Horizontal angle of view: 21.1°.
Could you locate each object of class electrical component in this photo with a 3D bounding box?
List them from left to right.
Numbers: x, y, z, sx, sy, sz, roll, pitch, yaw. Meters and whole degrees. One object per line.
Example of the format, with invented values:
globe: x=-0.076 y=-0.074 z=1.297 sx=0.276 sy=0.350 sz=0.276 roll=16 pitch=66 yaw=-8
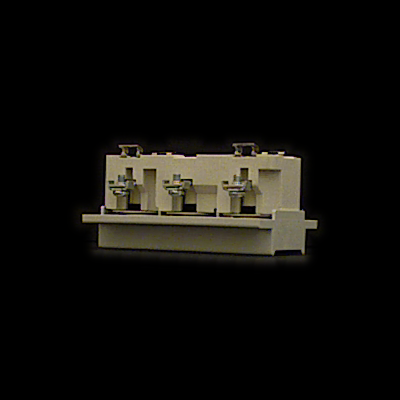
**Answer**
electrical component: x=0.000 y=0.000 z=0.660 sx=0.120 sy=0.063 sz=0.079 roll=2 pitch=0 yaw=29
